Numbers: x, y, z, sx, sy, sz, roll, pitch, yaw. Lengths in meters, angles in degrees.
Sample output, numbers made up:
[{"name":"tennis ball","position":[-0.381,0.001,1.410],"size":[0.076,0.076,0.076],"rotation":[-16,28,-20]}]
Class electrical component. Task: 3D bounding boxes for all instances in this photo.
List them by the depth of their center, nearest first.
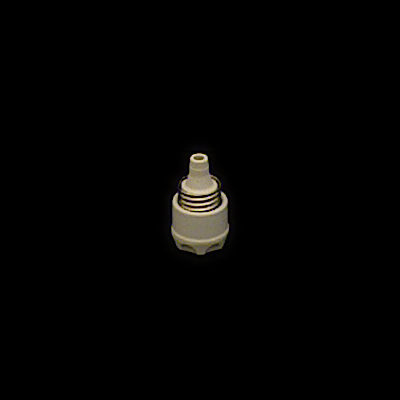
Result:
[{"name":"electrical component","position":[0.000,0.000,0.646],"size":[0.035,0.062,0.034],"rotation":[-1,32,1]}]
